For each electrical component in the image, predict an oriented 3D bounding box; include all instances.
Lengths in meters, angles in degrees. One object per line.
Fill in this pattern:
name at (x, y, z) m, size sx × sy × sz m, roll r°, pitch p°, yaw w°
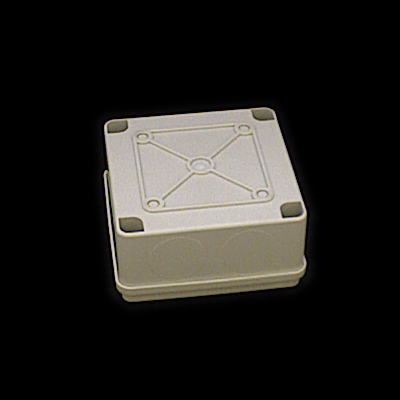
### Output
electrical component at (0.000, 0.000, 0.632) m, size 0.109 × 0.057 × 0.107 m, roll -5°, pitch 42°, yaw -6°
